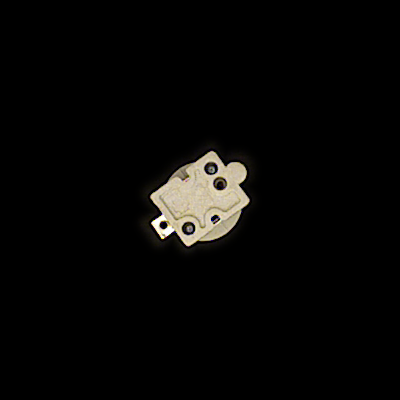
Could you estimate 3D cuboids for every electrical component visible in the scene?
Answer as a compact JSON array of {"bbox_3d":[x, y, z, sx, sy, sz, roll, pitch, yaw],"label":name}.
[{"bbox_3d":[0.000,0.000,0.639,0.066,0.048,0.055,-36,-4,-2],"label":"electrical component"}]
